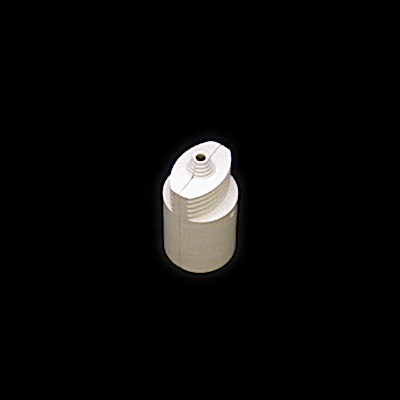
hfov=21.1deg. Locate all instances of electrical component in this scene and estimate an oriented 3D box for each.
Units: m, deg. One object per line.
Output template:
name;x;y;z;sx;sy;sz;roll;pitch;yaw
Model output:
electrical component;0.000;0.000;0.619;0.043;0.043;0.081;0;-38;0
